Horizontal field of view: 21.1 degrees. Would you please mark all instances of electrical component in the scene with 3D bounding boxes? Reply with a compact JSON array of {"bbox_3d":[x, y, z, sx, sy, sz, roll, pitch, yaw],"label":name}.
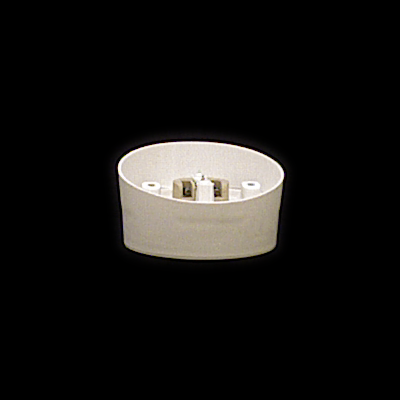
[{"bbox_3d":[0.000,0.000,0.644,0.099,0.064,0.098,1,9,0],"label":"electrical component"}]
